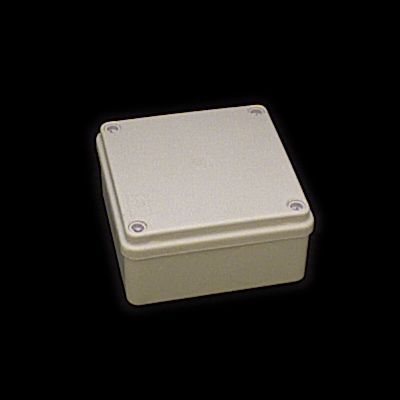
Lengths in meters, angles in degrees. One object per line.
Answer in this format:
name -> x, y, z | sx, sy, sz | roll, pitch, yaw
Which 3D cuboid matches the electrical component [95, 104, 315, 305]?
electrical component -> 0.000, 0.000, 0.633 | 0.109, 0.057, 0.107 | -8, 43, -10
